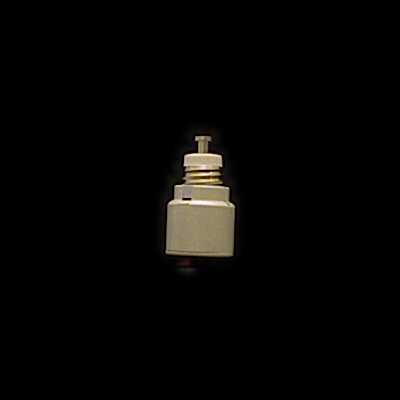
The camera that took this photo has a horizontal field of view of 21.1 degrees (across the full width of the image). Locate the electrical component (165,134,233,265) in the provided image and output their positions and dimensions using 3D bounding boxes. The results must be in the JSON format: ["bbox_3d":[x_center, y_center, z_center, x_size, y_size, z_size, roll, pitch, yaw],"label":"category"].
[{"bbox_3d":[0.000,0.000,0.651,0.040,0.078,0.040,2,2,0],"label":"electrical component"}]
